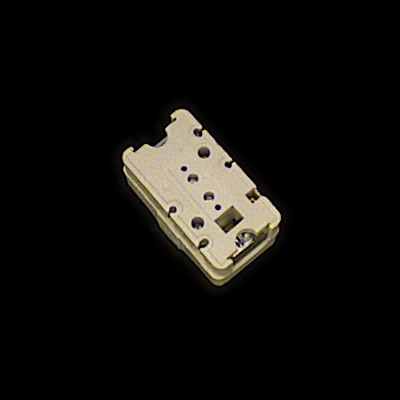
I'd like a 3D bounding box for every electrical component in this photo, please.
[{"bbox_3d":[0.000,0.000,0.636,0.050,0.089,0.055,-39,-12,-10],"label":"electrical component"}]
